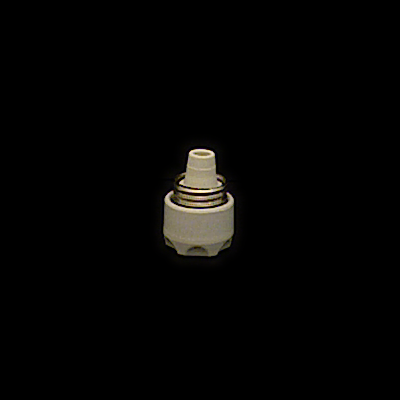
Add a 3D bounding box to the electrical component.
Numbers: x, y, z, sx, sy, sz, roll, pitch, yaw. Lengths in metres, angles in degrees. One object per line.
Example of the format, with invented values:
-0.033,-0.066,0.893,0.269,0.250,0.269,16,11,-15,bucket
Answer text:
0.000,0.000,0.646,0.043,0.063,0.043,2,22,0,electrical component
